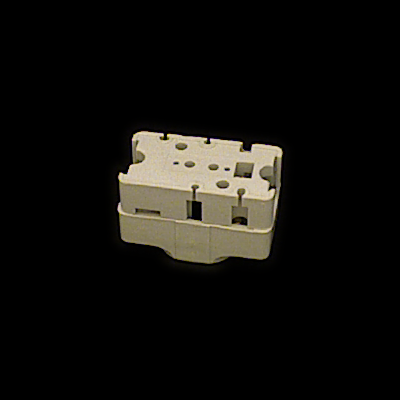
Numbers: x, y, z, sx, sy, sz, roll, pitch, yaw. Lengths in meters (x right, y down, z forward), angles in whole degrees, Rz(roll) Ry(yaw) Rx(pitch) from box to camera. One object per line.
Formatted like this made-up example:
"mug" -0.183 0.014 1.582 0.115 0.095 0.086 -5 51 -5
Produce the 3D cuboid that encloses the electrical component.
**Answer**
"electrical component" 0.000 0.000 0.640 0.089 0.056 0.050 7 42 6
